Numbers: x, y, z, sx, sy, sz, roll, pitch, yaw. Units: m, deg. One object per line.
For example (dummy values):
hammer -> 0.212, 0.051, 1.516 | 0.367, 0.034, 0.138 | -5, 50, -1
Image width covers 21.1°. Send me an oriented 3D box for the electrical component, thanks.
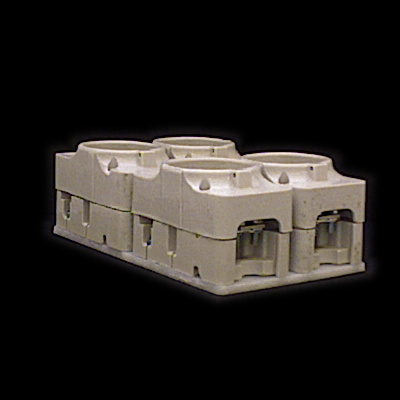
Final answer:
electrical component -> 0.000, 0.000, 0.645 | 0.105, 0.061, 0.185 | -6, 12, -35
